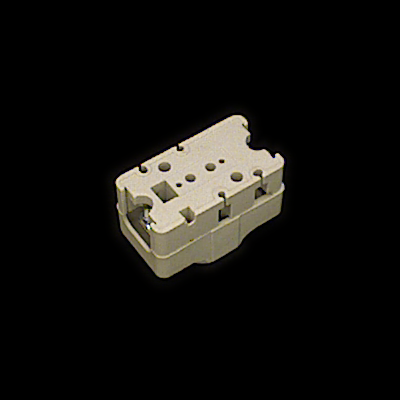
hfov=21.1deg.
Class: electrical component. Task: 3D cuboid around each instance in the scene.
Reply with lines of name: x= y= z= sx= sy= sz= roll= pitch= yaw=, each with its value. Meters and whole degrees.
electrical component: x=0.000 y=0.000 z=0.637 sx=0.090 sy=0.050 sz=0.056 roll=-30 pitch=-31 yaw=-20
